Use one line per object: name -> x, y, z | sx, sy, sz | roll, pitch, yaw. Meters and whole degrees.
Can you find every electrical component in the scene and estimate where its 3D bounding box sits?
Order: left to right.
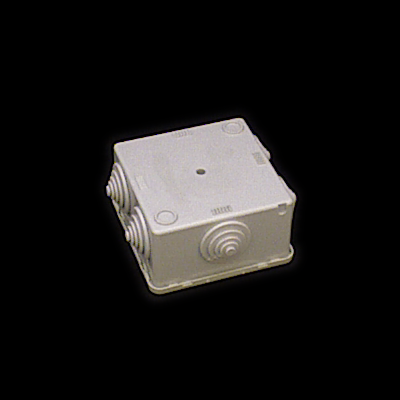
electrical component -> 0.000, 0.000, 0.633 | 0.100, 0.049, 0.099 | -13, 44, -14
